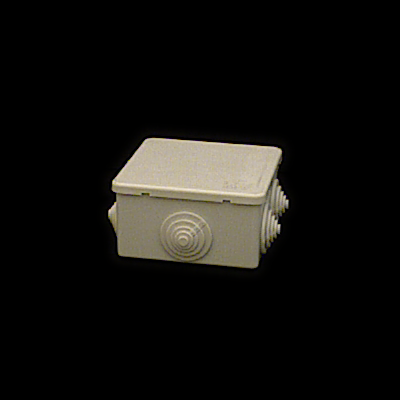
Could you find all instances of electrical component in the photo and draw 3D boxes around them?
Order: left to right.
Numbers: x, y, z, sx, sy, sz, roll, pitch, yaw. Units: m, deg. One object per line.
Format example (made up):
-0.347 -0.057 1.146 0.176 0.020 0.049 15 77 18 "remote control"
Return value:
0.000 0.000 0.647 0.099 0.049 0.099 5 22 9 "electrical component"
